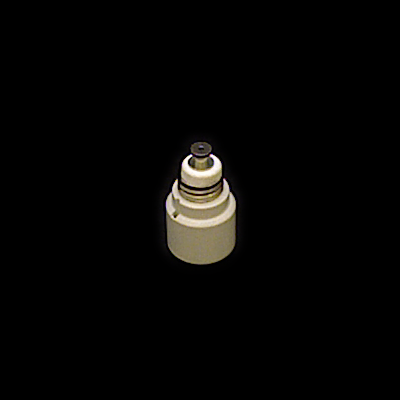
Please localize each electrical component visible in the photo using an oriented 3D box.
[{"bbox_3d":[0.000,0.000,0.625,0.040,0.079,0.039,0,43,0],"label":"electrical component"}]
